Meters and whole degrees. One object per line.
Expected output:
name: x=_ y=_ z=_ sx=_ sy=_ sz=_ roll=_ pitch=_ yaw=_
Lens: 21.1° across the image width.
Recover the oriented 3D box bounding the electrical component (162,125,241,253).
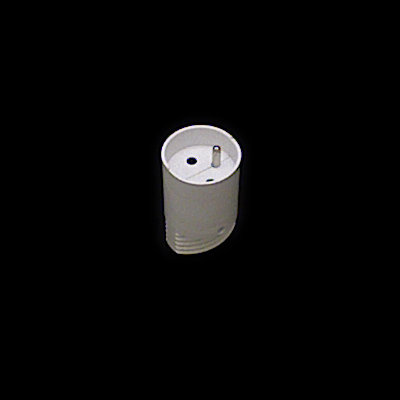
electrical component: x=0.000 y=0.000 z=0.621 sx=0.043 sy=0.043 sz=0.081 roll=0 pitch=-38 yaw=-2
